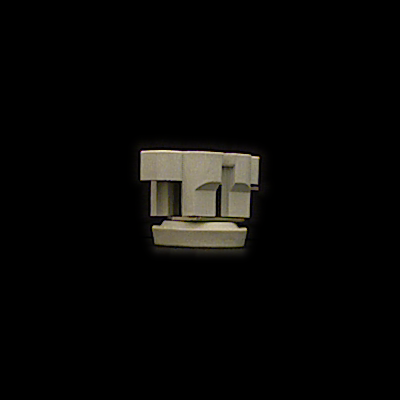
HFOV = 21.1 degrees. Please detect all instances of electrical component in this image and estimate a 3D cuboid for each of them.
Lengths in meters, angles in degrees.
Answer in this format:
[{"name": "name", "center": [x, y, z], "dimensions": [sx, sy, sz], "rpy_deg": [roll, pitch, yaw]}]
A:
[{"name": "electrical component", "center": [0.000, 0.000, 0.659], "dimensions": [0.079, 0.057, 0.057], "rpy_deg": [2, 0, -40]}]
